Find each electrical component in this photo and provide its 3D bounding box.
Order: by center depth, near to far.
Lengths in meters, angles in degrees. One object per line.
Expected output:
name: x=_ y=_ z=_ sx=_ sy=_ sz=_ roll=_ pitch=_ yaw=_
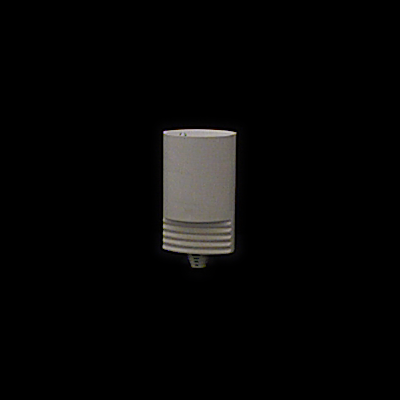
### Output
electrical component: x=0.000 y=0.000 z=0.640 sx=0.043 sy=0.081 sz=0.043 roll=1 pitch=10 yaw=0
